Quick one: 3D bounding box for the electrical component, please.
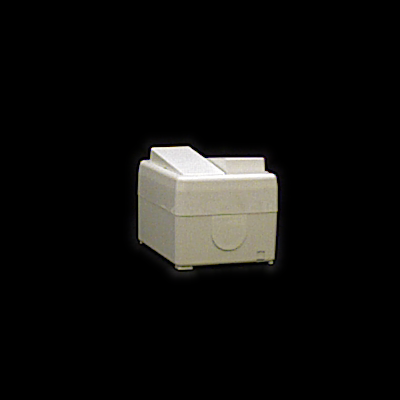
[{"bbox_3d":[0.000,0.000,0.647,0.062,0.061,0.095,-3,11,-20],"label":"electrical component"}]
